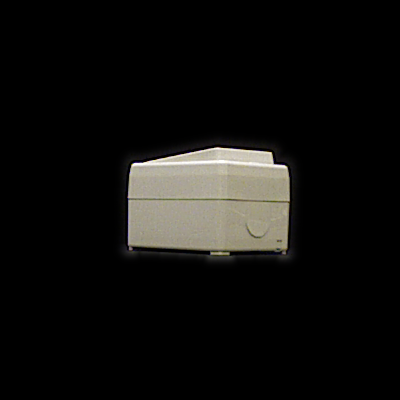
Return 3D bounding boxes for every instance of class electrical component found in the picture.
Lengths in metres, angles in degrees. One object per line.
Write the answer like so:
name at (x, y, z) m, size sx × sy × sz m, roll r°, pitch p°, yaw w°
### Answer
electrical component at (0.000, 0.000, 0.652) m, size 0.096 × 0.061 × 0.062 m, roll 1°, pitch 0°, yaw 44°
